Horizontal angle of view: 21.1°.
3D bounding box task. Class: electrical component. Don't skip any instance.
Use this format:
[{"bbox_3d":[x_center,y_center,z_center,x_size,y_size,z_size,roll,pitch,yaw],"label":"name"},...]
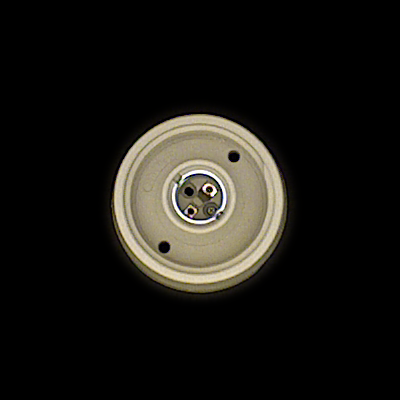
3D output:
[{"bbox_3d":[0.000,0.000,0.635,0.108,0.108,0.060,0,-6,0],"label":"electrical component"}]
